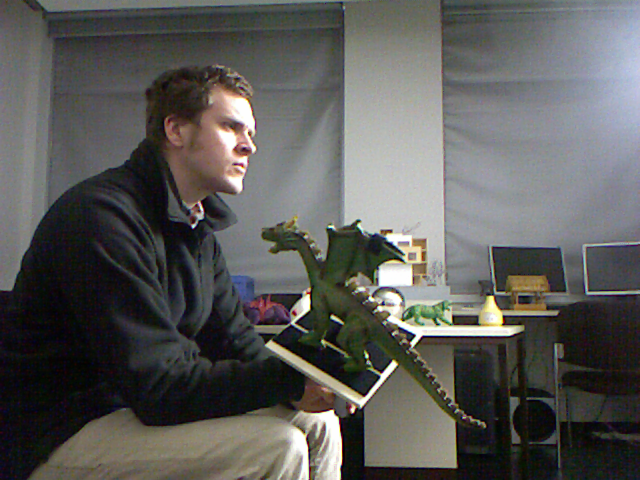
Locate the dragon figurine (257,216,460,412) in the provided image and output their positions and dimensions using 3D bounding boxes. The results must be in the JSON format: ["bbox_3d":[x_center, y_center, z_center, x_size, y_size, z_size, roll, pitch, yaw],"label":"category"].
[{"bbox_3d":[0.061,0.087,0.826,0.415,0.238,0.124,28,46,28],"label":"dragon figurine"}]
